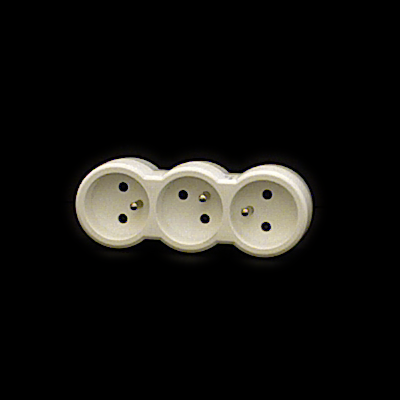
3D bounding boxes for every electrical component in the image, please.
[{"bbox_3d":[0.000,0.000,0.654,0.138,0.052,0.073,3,10,9],"label":"electrical component"}]
